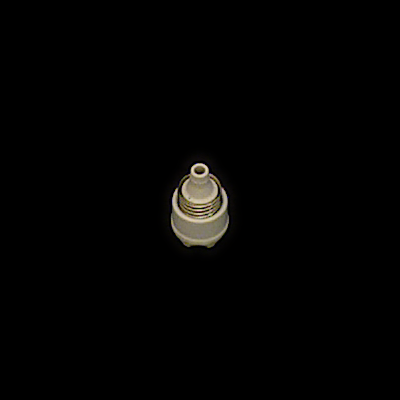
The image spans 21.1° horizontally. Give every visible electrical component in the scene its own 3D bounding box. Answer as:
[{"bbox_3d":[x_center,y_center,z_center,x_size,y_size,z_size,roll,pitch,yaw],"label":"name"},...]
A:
[{"bbox_3d":[0.000,0.000,0.641,0.035,0.035,0.062,0,-36,0],"label":"electrical component"}]
